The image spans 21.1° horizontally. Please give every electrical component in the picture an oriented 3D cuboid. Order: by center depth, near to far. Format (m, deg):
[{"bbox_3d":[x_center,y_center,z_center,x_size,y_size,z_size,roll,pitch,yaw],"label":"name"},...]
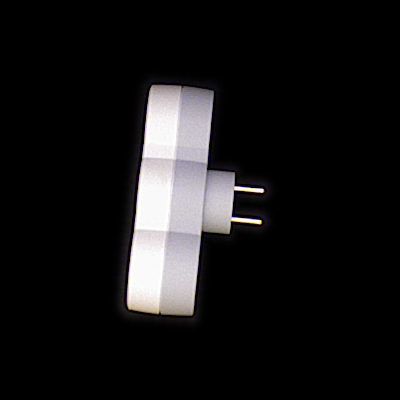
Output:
[{"bbox_3d":[0.000,0.000,0.631,0.074,0.138,0.052,5,-18,0],"label":"electrical component"}]
